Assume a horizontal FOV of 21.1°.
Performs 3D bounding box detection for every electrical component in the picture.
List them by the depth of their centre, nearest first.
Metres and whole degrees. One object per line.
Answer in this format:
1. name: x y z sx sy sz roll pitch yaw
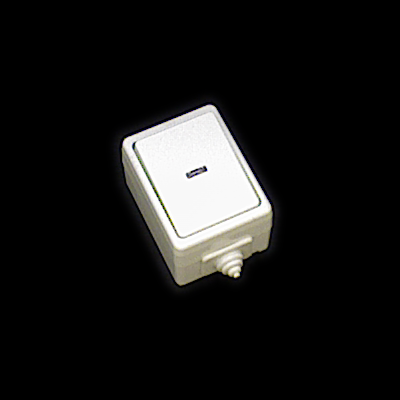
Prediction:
1. electrical component: 0.000 0.000 0.625 0.062 0.096 0.060 -23 -25 -11
